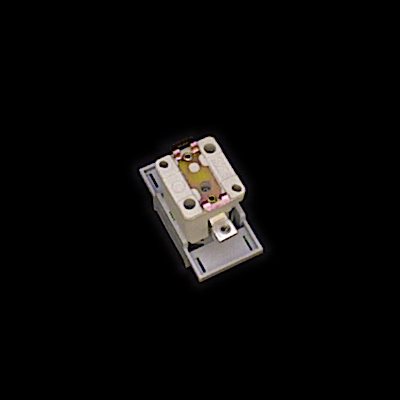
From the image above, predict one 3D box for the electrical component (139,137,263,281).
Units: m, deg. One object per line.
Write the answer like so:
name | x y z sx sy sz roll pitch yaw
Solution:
electrical component | 0.000 0.000 0.625 0.042 0.081 0.063 -25 -24 -12
